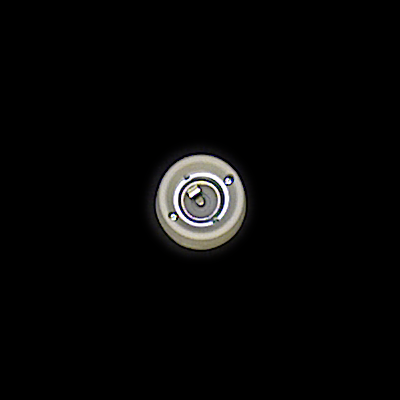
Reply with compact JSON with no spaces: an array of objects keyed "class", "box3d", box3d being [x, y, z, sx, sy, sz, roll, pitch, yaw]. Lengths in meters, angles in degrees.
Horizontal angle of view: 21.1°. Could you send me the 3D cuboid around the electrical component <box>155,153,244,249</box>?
[{"class":"electrical component","box3d":[0.000,0.000,0.634,0.055,0.055,0.047,0,-7,-1]}]
